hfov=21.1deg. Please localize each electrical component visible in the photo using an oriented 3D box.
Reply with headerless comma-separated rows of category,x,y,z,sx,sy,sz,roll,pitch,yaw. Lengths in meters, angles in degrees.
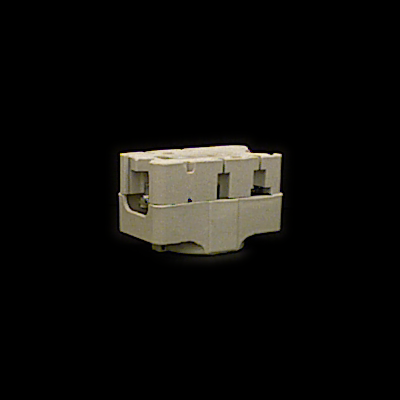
electrical component,0.000,0.000,0.651,0.090,0.056,0.049,-7,15,-33
